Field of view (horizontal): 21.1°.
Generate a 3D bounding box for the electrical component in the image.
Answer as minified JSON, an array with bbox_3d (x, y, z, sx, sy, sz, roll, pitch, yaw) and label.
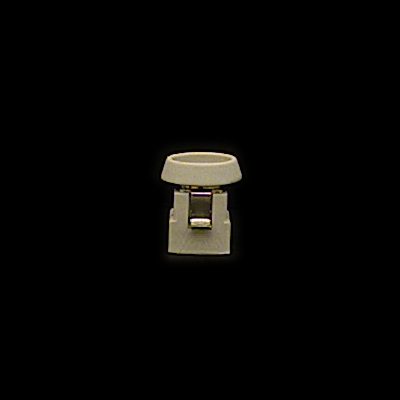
[{"bbox_3d":[0.000,0.000,0.651,0.048,0.056,0.066,-1,12,-2],"label":"electrical component"}]
